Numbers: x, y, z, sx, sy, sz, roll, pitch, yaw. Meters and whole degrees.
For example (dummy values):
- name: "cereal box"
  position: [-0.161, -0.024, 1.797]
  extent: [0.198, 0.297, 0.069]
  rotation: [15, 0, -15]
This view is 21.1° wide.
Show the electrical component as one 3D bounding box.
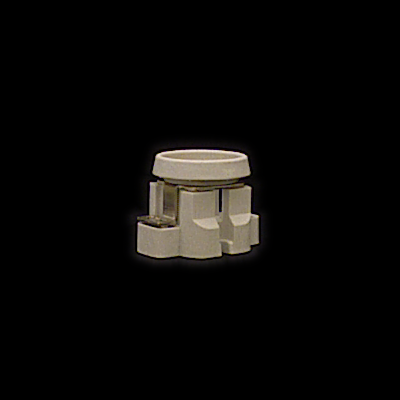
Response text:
- name: "electrical component"
  position: [0.000, 0.000, 0.642]
  extent: [0.078, 0.057, 0.057]
  rotation: [-7, 14, -37]
